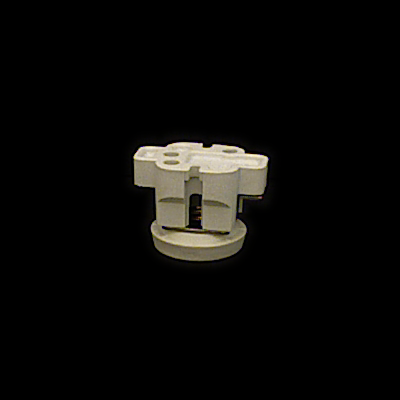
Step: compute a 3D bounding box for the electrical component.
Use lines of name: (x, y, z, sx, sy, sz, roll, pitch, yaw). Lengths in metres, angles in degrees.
electrical component: (0.000, 0.000, 0.648, 0.078, 0.057, 0.057, 5, 21, 6)
